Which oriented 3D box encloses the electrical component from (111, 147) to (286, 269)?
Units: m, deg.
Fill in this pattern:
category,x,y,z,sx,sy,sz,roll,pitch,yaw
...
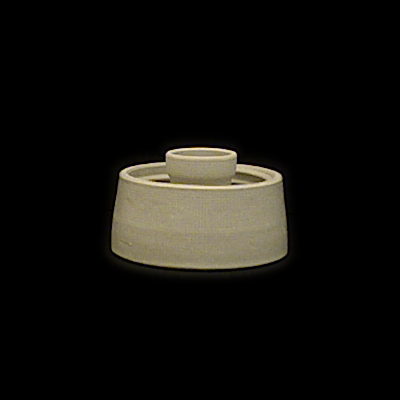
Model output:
category,x,y,z,sx,sy,sz,roll,pitch,yaw
electrical component,0.000,0.000,0.652,0.108,0.061,0.107,1,11,0
